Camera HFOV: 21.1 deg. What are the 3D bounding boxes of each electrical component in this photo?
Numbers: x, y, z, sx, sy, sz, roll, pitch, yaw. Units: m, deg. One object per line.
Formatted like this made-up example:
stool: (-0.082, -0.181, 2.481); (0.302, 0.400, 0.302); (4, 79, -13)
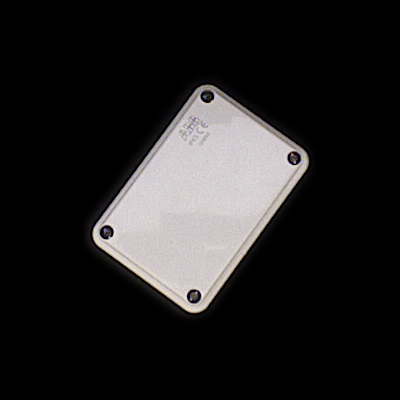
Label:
electrical component: (0.000, 0.000, 0.628); (0.078, 0.113, 0.057); (36, -5, 4)
